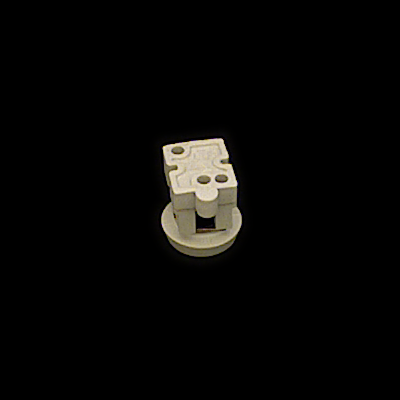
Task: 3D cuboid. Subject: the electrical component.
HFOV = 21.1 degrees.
[{"bbox_3d":[0.000,0.000,0.640,0.048,0.056,0.066,-8,42,-7],"label":"electrical component"}]
